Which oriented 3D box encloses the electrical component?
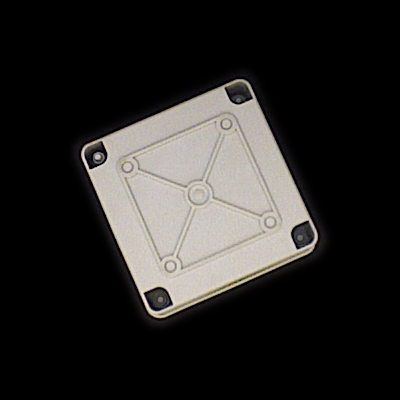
[{"bbox_3d":[0.000,0.000,0.628,0.109,0.109,0.056,-24,-7,-3],"label":"electrical component"}]
